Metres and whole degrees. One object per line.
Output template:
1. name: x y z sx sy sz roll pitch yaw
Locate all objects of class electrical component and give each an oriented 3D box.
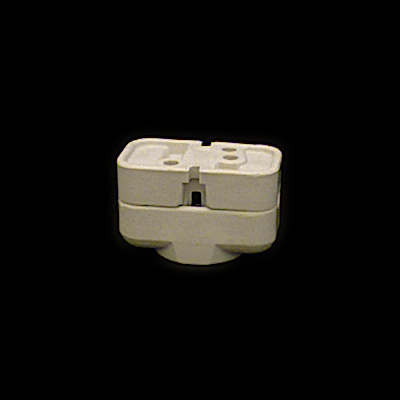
1. electrical component: 0.000 0.000 0.648 0.095 0.060 0.053 3 22 7
